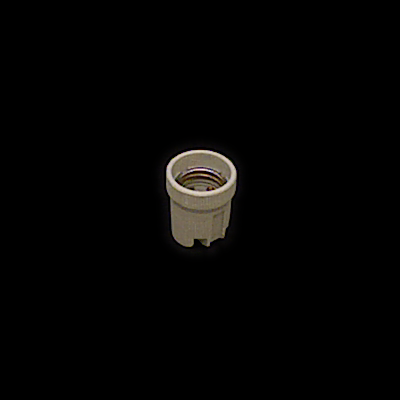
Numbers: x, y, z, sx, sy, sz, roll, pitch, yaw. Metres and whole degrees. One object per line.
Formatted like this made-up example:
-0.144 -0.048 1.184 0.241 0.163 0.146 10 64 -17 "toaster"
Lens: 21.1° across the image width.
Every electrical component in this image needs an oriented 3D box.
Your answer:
0.000 0.000 0.631 0.040 0.047 0.039 1 42 0 "electrical component"
